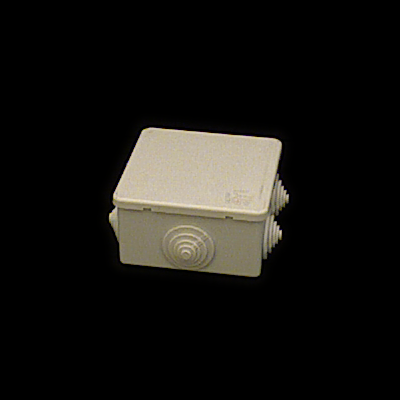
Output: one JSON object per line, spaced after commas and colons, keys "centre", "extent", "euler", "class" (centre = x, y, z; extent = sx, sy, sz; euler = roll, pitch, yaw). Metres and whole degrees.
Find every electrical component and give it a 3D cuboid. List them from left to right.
{"centre": [0.000, 0.000, 0.644], "extent": [0.099, 0.049, 0.099], "euler": [6, 33, 7], "class": "electrical component"}
